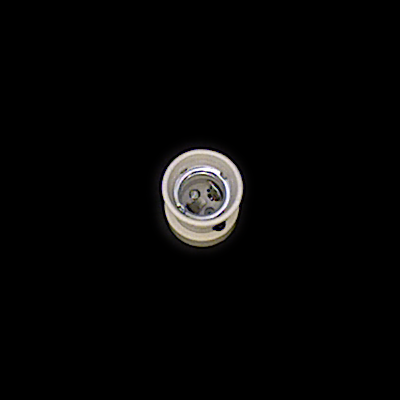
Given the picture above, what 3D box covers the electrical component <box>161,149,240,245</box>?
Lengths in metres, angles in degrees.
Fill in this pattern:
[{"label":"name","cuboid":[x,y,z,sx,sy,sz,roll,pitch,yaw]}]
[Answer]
[{"label":"electrical component","cuboid":[0.000,0.000,0.628,0.045,0.045,0.055,0,-17,0]}]
